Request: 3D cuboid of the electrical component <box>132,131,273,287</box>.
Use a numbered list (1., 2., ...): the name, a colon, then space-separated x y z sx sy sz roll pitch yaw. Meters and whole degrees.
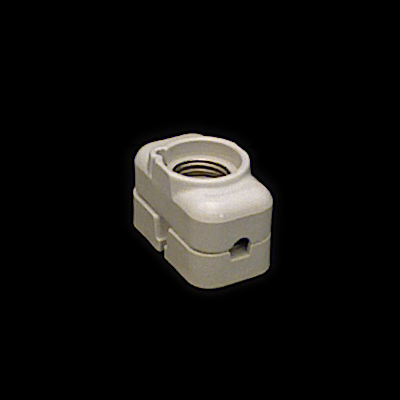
1. electrical component: 0.000 0.000 0.640 0.054 0.060 0.093 -16 36 -26
